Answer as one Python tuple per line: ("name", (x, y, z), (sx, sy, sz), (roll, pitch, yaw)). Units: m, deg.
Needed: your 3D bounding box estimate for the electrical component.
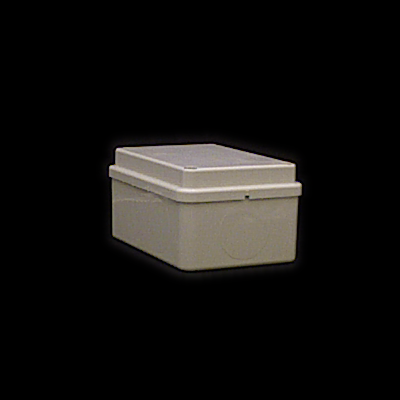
("electrical component", (0.000, 0.000, 0.645), (0.078, 0.057, 0.112), (-4, 11, -27))
